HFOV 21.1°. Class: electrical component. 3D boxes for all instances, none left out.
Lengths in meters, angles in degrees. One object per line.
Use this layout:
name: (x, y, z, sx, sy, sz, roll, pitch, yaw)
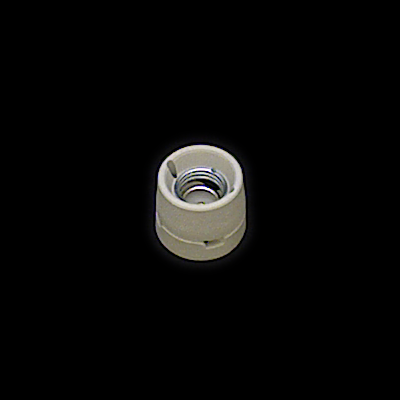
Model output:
electrical component: (0.000, 0.000, 0.634, 0.055, 0.055, 0.047, 0, -38, 0)
